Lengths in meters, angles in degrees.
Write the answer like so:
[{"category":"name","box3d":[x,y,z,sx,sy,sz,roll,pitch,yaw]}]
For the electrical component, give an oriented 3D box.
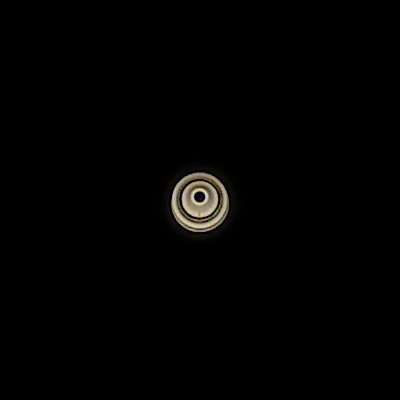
[{"category":"electrical component","box3d":[0.000,0.000,0.638,0.035,0.035,0.061,0,-4,0]}]
